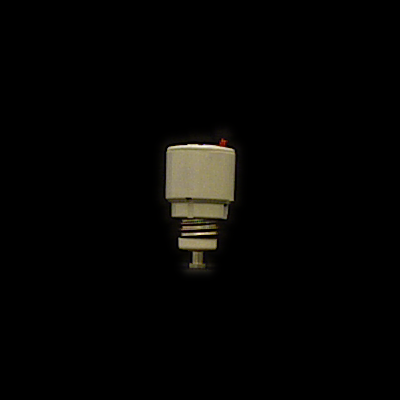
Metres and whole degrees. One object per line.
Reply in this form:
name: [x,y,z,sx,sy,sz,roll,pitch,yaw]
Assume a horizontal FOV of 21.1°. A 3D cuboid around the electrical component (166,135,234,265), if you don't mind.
electrical component: [0.000,0.000,0.648,0.040,0.078,0.040,2,1,0]
